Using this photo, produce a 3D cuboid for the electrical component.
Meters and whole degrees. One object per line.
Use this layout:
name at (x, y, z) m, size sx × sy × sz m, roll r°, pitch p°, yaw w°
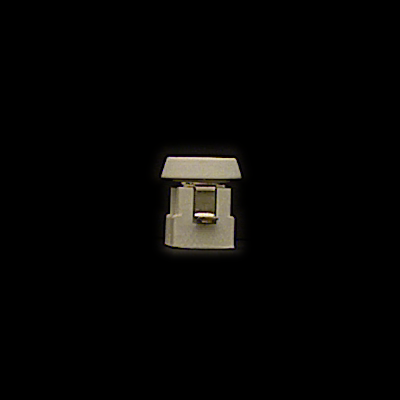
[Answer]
electrical component at (0.000, 0.000, 0.655) m, size 0.048 × 0.055 × 0.066 m, roll -1°, pitch 2°, yaw -10°
